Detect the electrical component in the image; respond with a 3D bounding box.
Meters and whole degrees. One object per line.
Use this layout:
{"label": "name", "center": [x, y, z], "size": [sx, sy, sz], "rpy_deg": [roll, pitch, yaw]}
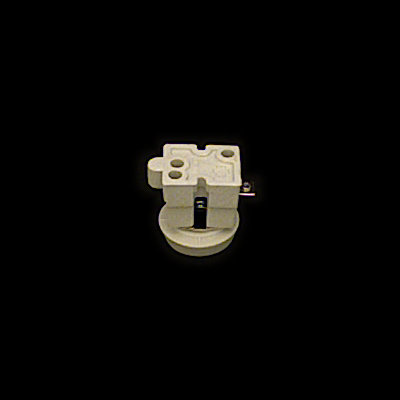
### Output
{"label": "electrical component", "center": [0.000, 0.000, 0.640], "size": [0.066, 0.056, 0.048], "rpy_deg": [1, 41, -1]}
